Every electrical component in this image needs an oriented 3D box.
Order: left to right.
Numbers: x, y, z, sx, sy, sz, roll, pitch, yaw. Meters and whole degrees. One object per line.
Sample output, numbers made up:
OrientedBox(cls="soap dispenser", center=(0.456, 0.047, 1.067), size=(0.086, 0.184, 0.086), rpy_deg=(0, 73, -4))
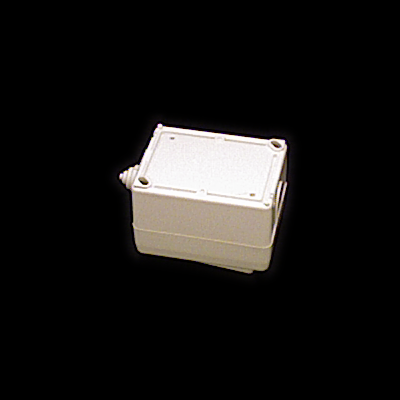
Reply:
OrientedBox(cls="electrical component", center=(0.000, 0.000, 0.633), size=(0.096, 0.061, 0.061), rpy_deg=(8, 42, 9))
